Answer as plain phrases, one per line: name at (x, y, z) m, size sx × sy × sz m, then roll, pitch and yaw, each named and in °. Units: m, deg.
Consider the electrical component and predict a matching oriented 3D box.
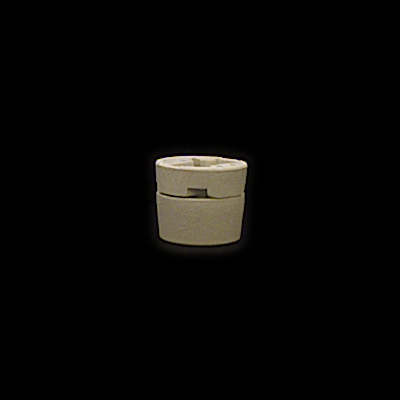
electrical component at (0.000, 0.000, 0.647) m, size 0.055 × 0.047 × 0.055 m, roll 1°, pitch 11°, yaw 0°
